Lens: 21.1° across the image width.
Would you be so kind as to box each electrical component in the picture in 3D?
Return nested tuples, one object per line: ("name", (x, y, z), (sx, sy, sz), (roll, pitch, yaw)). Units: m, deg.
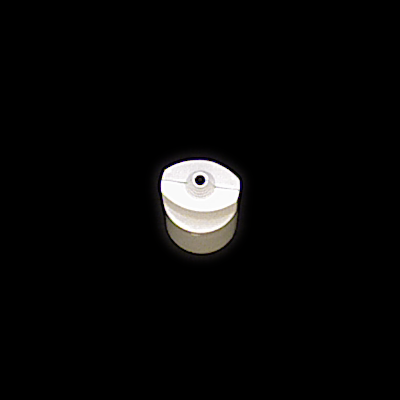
("electrical component", (0.000, 0.000, 0.616), (0.043, 0.043, 0.080), (0, -17, 1))
